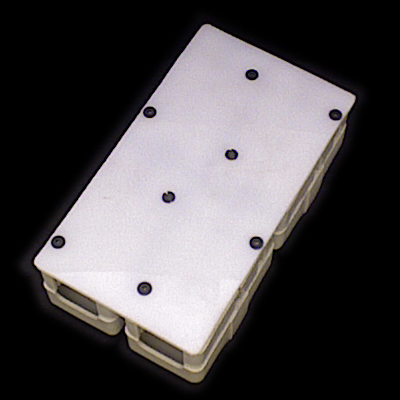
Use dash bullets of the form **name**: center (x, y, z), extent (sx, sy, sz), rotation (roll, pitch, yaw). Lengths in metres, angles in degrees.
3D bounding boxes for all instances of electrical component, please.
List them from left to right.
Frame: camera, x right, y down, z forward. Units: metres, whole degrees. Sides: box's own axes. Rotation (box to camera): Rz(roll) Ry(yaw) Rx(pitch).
- **electrical component**: center (0.000, 0.000, 0.625), extent (0.105, 0.187, 0.060), rotation (28, -24, 13)
